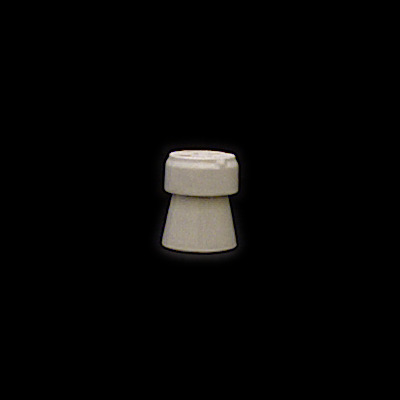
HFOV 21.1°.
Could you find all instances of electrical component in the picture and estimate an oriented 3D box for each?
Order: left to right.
[{"bbox_3d":[0.000,0.000,0.646,0.045,0.055,0.044,2,11,0],"label":"electrical component"}]
